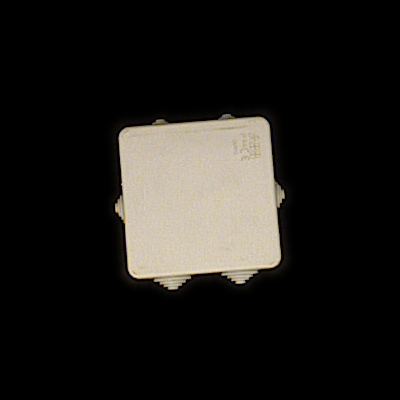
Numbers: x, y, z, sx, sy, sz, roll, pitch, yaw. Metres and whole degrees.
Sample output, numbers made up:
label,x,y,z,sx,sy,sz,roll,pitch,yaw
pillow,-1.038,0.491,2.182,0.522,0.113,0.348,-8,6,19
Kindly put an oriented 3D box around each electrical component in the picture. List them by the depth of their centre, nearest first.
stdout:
label,x,y,z,sx,sy,sz,roll,pitch,yaw
electrical component,0.000,0.000,0.642,0.100,0.100,0.048,-4,-6,-1
